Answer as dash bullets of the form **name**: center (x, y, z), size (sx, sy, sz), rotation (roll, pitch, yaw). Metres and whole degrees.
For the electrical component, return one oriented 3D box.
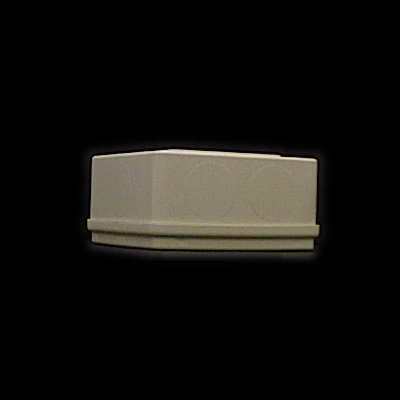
- **electrical component**: center (0.000, 0.000, 0.650), size (0.109, 0.056, 0.108), rotation (1, 0, -27)
